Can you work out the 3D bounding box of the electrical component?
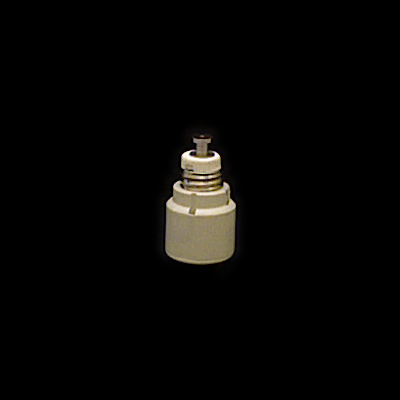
[{"bbox_3d":[0.000,0.000,0.634,0.040,0.079,0.039,1,20,0],"label":"electrical component"}]
